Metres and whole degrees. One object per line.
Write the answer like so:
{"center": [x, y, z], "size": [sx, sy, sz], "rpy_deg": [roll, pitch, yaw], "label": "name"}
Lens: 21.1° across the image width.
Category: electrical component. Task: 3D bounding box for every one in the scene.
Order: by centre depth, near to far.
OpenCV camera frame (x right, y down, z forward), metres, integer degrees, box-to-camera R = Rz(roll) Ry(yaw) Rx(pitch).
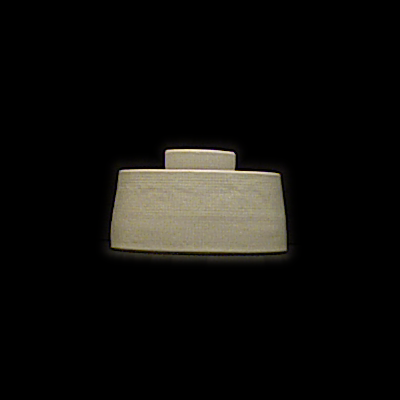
{"center": [0.000, 0.000, 0.655], "size": [0.108, 0.060, 0.108], "rpy_deg": [2, 1, 1], "label": "electrical component"}
